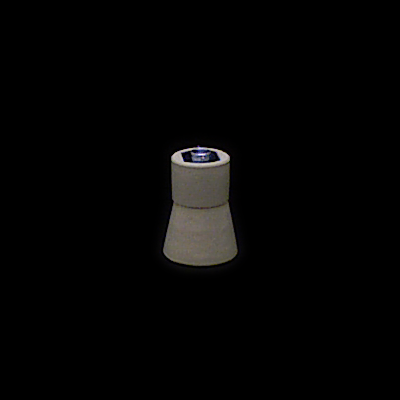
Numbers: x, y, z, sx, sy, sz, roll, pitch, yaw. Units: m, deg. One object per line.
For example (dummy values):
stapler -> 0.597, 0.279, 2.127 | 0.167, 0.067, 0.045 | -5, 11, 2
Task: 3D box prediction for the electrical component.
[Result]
electrical component -> 0.000, 0.000, 0.638 | 0.044, 0.066, 0.044 | 0, 22, 0
